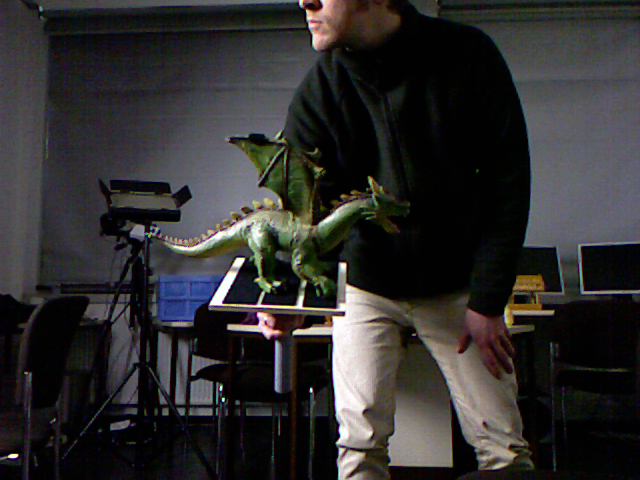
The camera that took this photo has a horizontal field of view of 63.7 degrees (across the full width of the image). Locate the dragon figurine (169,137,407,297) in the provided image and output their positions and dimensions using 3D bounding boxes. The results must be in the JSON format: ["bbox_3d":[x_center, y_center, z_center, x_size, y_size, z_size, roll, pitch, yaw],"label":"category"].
[{"bbox_3d":[-0.073,-0.047,0.809,0.411,0.238,0.124,8,26,14],"label":"dragon figurine"}]
